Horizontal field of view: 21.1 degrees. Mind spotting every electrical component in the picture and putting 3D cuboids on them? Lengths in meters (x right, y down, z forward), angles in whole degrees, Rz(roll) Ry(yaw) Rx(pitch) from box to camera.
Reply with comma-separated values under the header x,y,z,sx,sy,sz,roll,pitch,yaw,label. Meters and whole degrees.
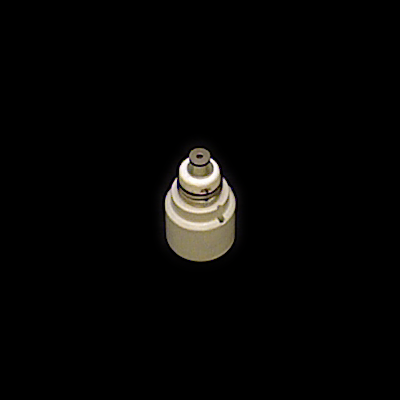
x,y,z,sx,sy,sz,roll,pitch,yaw,label
0.000,0.000,0.620,0.040,0.040,0.079,0,-38,1,electrical component
